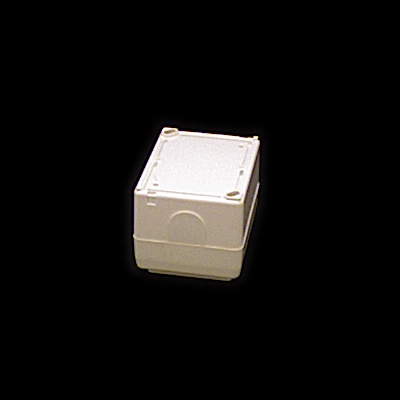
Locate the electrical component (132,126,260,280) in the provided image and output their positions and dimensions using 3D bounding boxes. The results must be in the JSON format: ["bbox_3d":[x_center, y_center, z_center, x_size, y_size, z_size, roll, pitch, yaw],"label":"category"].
[{"bbox_3d":[0.000,0.000,0.636,0.062,0.061,0.095,6,31,8],"label":"electrical component"}]
